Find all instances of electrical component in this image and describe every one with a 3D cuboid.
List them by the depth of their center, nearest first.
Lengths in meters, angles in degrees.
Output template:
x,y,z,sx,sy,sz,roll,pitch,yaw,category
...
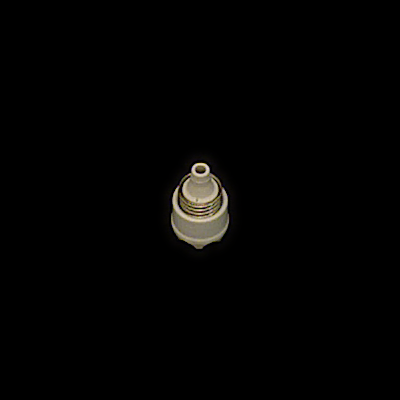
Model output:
x,y,z,sx,sy,sz,roll,pitch,yaw,category
0.000,0.000,0.641,0.035,0.035,0.062,0,-36,-1,electrical component
